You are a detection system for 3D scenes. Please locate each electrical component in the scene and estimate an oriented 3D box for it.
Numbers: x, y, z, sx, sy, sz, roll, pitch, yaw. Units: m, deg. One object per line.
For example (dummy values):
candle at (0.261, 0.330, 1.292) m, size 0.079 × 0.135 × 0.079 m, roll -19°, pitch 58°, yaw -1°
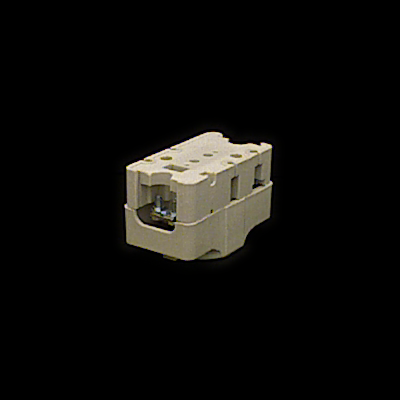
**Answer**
electrical component at (0.000, 0.000, 0.646) m, size 0.049 × 0.056 × 0.089 m, roll 16°, pitch 27°, yaw 31°
